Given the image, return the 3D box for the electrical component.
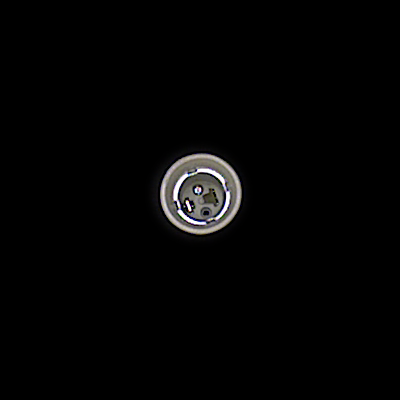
[{"bbox_3d":[0.000,0.000,0.625,0.044,0.044,0.065,0,-7,1],"label":"electrical component"}]
